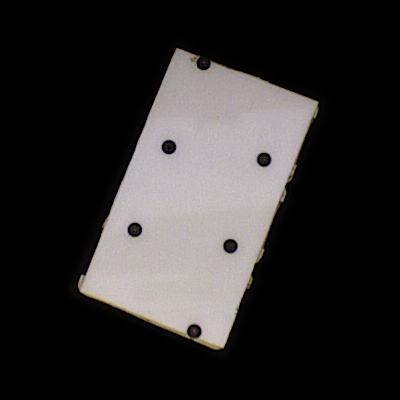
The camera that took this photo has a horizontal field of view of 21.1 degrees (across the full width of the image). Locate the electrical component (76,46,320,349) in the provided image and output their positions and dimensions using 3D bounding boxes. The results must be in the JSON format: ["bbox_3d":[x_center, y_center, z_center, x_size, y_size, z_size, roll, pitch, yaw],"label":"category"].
[{"bbox_3d":[0.000,0.000,0.630,0.089,0.150,0.061,22,-5,3],"label":"electrical component"}]
